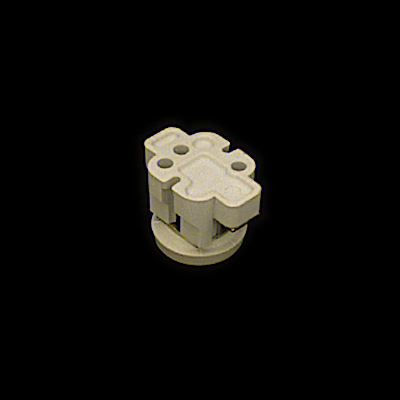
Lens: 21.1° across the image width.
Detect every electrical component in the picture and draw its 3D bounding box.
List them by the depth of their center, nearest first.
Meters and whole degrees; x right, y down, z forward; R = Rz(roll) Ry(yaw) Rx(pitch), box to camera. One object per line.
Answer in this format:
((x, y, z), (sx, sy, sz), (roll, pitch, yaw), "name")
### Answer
((0.000, 0.000, 0.639), (0.058, 0.057, 0.077), (-33, 54, -32), "electrical component")
